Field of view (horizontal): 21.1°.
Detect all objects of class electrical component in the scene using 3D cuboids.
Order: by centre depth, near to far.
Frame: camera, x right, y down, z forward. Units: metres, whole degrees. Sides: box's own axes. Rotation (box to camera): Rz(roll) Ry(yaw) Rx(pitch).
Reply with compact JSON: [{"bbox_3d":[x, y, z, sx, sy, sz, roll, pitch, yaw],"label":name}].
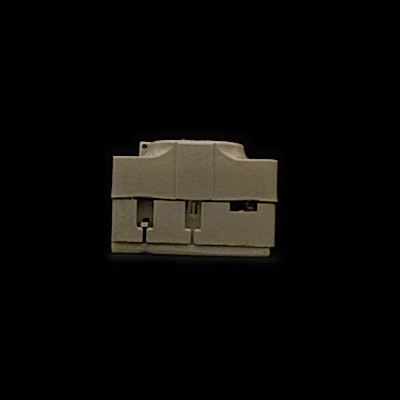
[{"bbox_3d":[-0.001,0.000,0.656,0.089,0.062,0.150,1,-1,2],"label":"electrical component"}]
